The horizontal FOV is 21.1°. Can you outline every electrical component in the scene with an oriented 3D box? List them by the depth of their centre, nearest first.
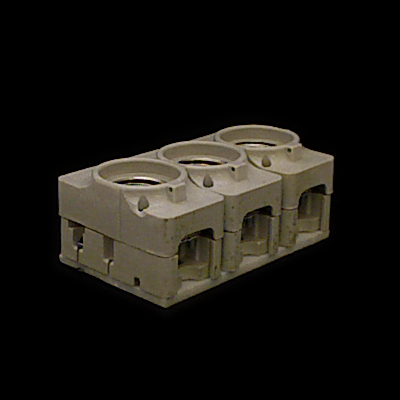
[{"bbox_3d":[0.000,0.000,0.645,0.088,0.063,0.148,19,27,38],"label":"electrical component"}]
